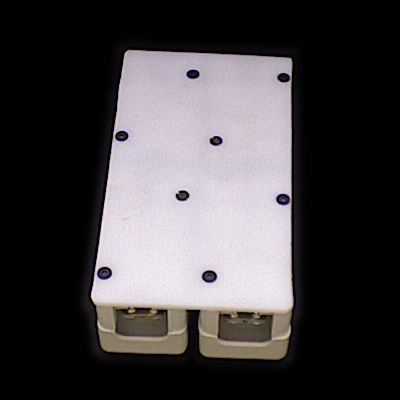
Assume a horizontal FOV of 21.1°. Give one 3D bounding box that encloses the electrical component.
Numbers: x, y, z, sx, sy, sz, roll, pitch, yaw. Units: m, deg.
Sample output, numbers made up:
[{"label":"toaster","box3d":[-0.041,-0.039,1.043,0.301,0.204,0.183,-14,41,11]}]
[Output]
[{"label":"electrical component","box3d":[0.000,0.000,0.627,0.105,0.185,0.060,2,-37,1]}]
